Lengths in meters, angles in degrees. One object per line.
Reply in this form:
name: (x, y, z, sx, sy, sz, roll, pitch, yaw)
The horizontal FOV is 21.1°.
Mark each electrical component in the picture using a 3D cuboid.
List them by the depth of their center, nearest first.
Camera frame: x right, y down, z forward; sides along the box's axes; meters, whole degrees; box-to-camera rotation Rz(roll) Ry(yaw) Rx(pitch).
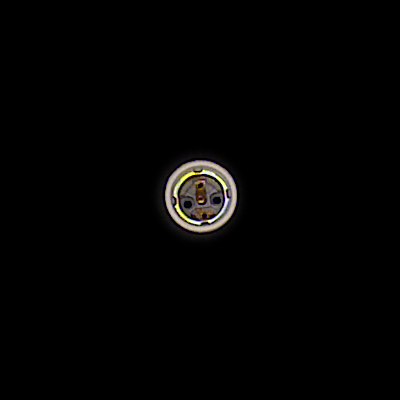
electrical component: (0.000, 0.000, 0.627, 0.040, 0.040, 0.046, 0, -6, 0)
